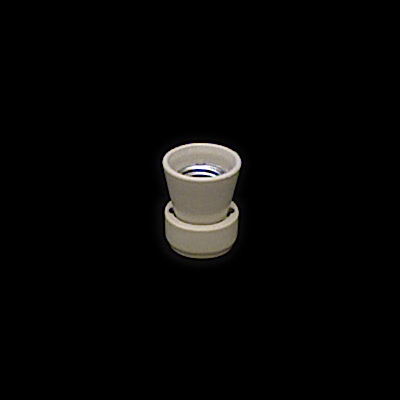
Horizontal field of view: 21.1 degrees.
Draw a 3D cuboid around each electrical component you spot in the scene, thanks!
[{"bbox_3d":[0.000,0.000,0.636,0.045,0.056,0.044,1,31,0],"label":"electrical component"}]
